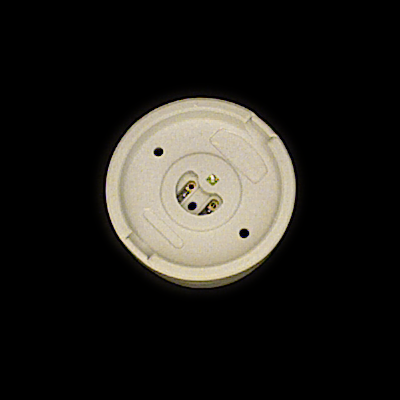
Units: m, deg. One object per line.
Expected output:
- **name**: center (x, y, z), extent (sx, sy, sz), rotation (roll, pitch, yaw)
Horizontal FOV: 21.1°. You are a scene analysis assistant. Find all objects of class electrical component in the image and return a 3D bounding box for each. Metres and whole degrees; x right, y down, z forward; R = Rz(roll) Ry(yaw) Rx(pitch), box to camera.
- **electrical component**: center (0.000, 0.000, 0.635), extent (0.108, 0.108, 0.060), rotation (0, -16, 0)
